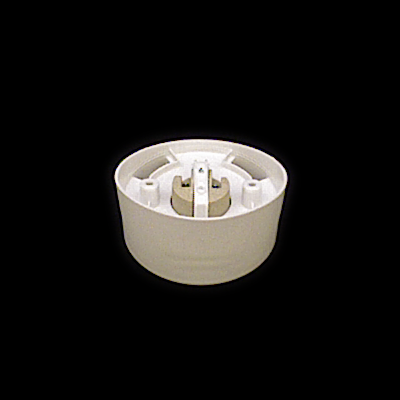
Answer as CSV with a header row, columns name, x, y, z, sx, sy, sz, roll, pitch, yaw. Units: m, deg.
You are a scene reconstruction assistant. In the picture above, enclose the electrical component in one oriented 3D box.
name,x,y,z,sx,sy,sz,roll,pitch,yaw
electrical component,0.000,0.000,0.628,0.099,0.065,0.098,1,43,-1
